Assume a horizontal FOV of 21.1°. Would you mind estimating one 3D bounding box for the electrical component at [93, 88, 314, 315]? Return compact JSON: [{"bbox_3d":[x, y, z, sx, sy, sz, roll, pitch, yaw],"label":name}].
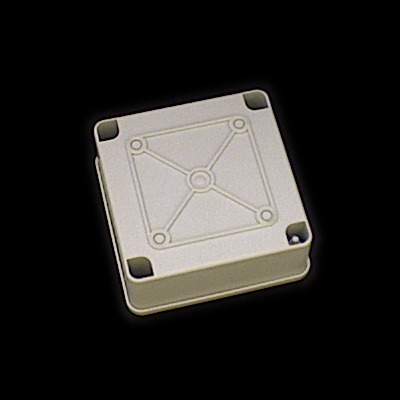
[{"bbox_3d":[0.000,0.000,0.628,0.109,0.108,0.056,-12,-26,-7],"label":"electrical component"}]
